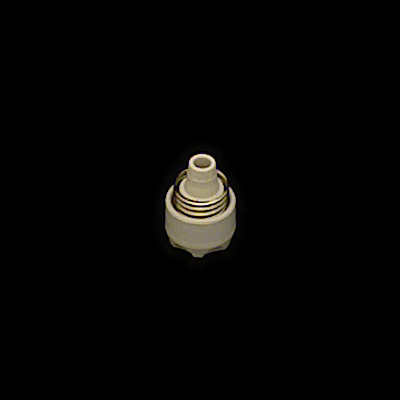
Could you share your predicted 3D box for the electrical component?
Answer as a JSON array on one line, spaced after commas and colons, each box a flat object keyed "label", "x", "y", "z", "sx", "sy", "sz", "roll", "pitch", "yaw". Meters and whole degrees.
[{"label": "electrical component", "x": 0.000, "y": 0.000, "z": 0.637, "sx": 0.043, "sy": 0.062, "sz": 0.043, "roll": 1, "pitch": 43, "yaw": -1}]
